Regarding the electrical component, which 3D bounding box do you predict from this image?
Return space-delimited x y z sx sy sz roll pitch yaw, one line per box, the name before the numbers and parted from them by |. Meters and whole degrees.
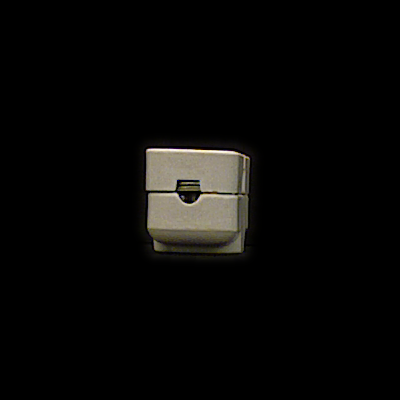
electrical component | 0.000 0.000 0.655 0.053 0.059 0.095 2 1 7
